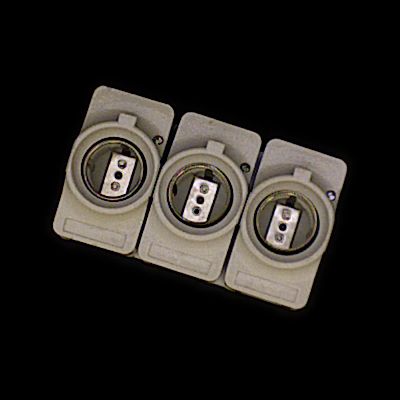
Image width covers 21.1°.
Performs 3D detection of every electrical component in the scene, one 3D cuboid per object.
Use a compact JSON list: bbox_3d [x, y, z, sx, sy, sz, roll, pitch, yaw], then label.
[{"bbox_3d":[0.000,0.000,0.632,0.150,0.089,0.061,17,-6,1],"label":"electrical component"}]
